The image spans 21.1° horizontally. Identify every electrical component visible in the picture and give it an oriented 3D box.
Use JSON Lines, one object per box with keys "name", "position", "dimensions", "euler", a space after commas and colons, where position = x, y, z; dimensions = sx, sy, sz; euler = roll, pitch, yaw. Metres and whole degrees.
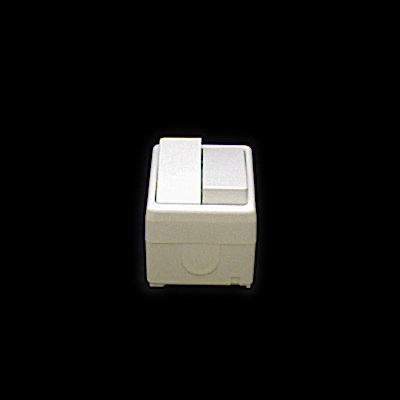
{"name": "electrical component", "position": [0.000, 0.000, 0.637], "dimensions": [0.062, 0.061, 0.095], "euler": [1, 31, 0]}
